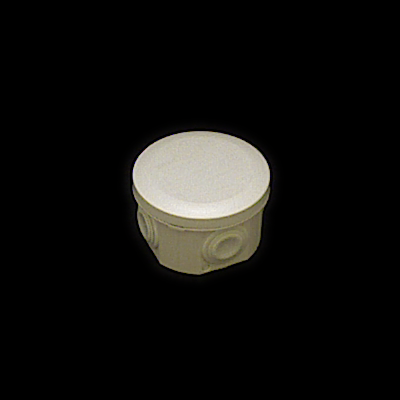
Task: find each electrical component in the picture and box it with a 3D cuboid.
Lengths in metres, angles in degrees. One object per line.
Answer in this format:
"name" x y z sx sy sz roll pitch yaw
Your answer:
"electrical component" 0.000 0.000 0.635 0.080 0.051 0.079 1 42 0
